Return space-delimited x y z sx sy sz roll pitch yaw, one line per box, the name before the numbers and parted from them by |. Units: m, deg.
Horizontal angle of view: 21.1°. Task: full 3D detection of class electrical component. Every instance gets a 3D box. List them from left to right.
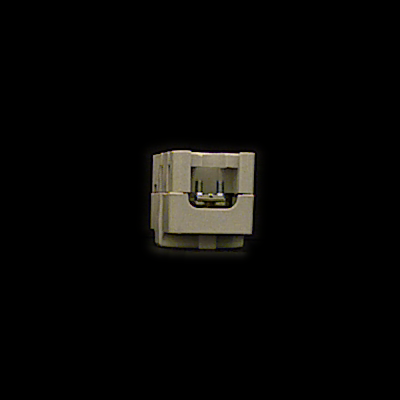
electrical component | 0.000 0.000 0.656 0.050 0.056 0.089 2 1 -11
